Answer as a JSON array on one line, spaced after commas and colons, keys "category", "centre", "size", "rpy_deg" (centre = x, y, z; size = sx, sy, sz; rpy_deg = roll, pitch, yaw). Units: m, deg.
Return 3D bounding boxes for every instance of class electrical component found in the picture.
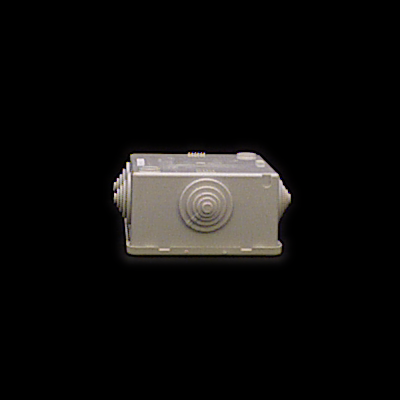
[{"category": "electrical component", "centre": [0.000, 0.000, 0.644], "size": [0.100, 0.049, 0.099], "rpy_deg": [0, 10, -5]}]
